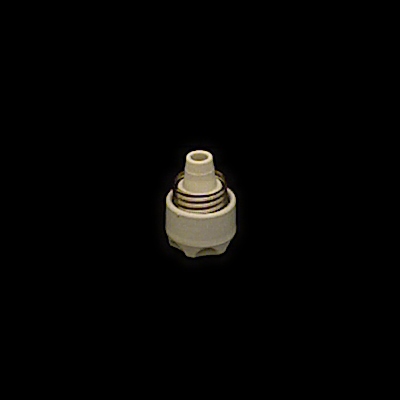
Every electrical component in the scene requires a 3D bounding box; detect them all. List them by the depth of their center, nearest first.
[{"bbox_3d":[0.000,0.000,0.641,0.043,0.063,0.043,0,32,1],"label":"electrical component"}]
